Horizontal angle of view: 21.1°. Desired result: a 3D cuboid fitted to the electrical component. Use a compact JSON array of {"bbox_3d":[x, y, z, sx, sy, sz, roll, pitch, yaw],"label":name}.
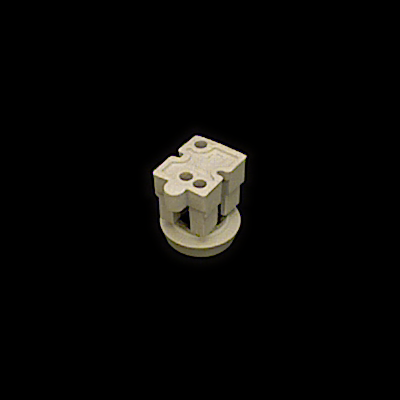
[{"bbox_3d":[0.000,0.000,0.639,0.048,0.056,0.066,24,47,25],"label":"electrical component"}]
